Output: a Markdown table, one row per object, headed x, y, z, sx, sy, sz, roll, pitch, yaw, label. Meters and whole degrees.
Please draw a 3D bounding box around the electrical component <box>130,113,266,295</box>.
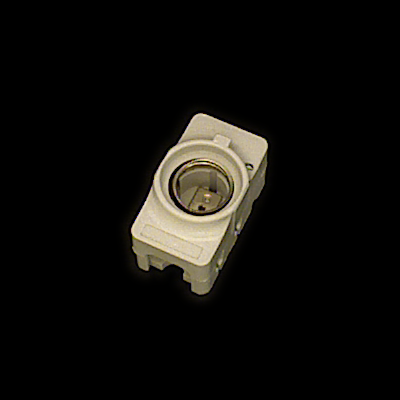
| x | y | z | sx | sy | sz | roll | pitch | yaw | label |
| --- | --- | --- | --- | --- | --- | --- | --- | --- | --- |
| 0.000 | 0.000 | 0.636 | 0.050 | 0.090 | 0.055 | 23 | -24 | 11 | electrical component |
